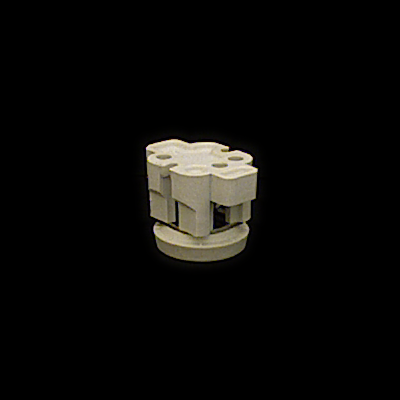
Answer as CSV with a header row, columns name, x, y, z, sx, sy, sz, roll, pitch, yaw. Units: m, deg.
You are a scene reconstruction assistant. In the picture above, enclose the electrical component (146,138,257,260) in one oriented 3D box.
name,x,y,z,sx,sy,sz,roll,pitch,yaw
electrical component,0.000,0.000,0.646,0.058,0.057,0.077,-19,28,-39
